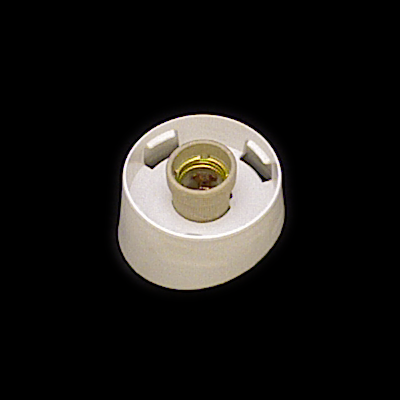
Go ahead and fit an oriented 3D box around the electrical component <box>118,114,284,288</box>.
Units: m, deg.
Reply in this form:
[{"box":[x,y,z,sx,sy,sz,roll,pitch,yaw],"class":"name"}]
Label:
[{"box":[0.000,0.000,0.627,0.099,0.098,0.064,0,-37,0],"class":"electrical component"}]
